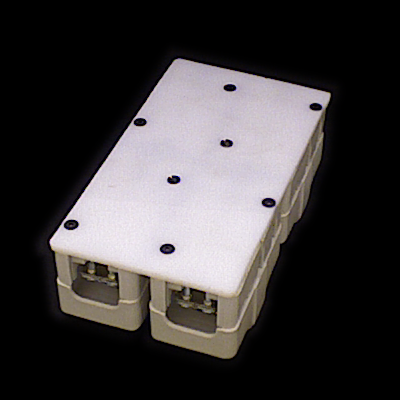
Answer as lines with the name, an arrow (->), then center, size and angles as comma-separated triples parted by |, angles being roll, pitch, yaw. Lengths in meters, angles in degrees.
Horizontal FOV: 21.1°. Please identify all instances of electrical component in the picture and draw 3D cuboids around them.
electrical component -> 0.000, 0.000, 0.630 | 0.105, 0.061, 0.185 | 14, 44, 15
